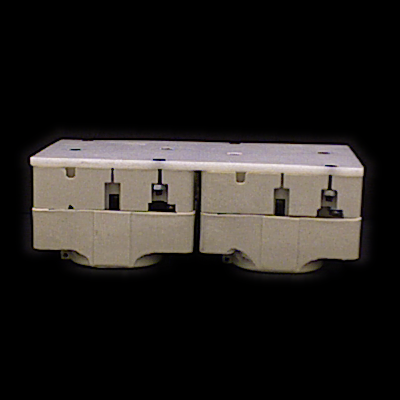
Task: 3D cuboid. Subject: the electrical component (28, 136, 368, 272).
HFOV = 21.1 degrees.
[{"bbox_3d":[0.000,0.000,0.644,0.186,0.061,0.104,2,10,2],"label":"electrical component"}]
